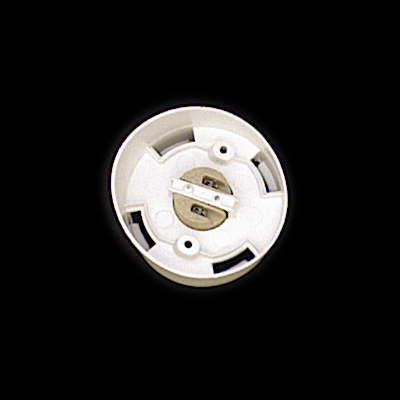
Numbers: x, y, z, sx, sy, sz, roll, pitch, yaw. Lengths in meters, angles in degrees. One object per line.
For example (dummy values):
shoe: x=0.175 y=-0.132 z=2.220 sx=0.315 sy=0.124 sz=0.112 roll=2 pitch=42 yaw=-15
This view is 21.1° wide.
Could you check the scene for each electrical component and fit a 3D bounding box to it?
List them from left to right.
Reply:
electrical component: x=0.000 y=0.000 z=0.623 sx=0.099 sy=0.099 sz=0.064 roll=0 pitch=-17 yaw=1
